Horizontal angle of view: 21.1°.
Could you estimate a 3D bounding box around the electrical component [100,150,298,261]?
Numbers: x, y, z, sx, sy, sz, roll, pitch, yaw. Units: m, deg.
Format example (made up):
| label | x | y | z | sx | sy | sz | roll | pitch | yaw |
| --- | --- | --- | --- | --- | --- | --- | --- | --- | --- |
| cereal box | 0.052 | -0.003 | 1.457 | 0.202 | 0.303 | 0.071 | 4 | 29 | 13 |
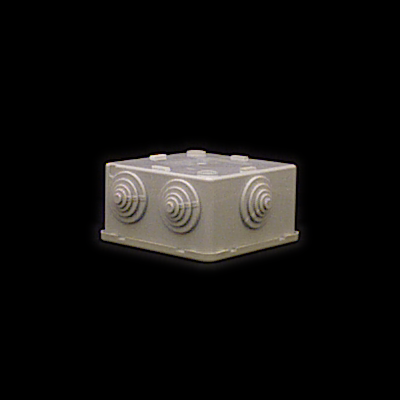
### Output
| label | x | y | z | sx | sy | sz | roll | pitch | yaw |
| --- | --- | --- | --- | --- | --- | --- | --- | --- | --- |
| electrical component | 0.000 | 0.000 | 0.646 | 0.099 | 0.049 | 0.100 | 10 | 13 | 40 |
